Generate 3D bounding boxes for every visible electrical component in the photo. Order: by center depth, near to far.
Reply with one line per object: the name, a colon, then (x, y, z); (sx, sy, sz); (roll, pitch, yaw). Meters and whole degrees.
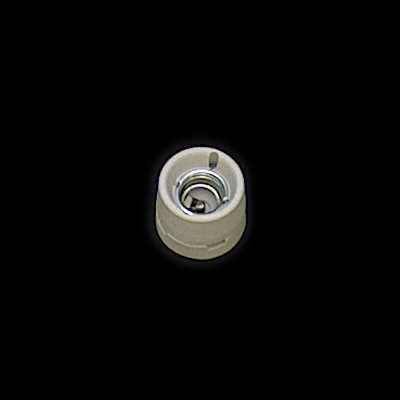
electrical component: (0.000, 0.000, 0.633); (0.055, 0.055, 0.047); (0, -28, -1)
